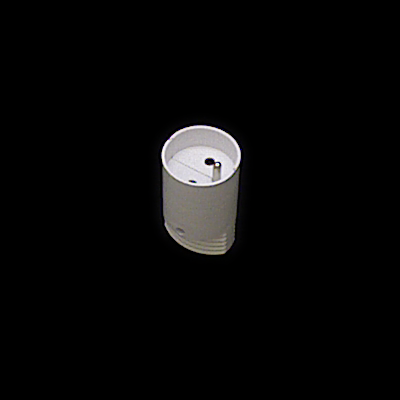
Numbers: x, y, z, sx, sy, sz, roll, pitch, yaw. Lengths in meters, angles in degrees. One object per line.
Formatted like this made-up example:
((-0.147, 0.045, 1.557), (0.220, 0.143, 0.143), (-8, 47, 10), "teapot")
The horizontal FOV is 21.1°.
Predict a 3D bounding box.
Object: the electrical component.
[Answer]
((0.000, 0.000, 0.620), (0.043, 0.043, 0.081), (0, -37, -1), "electrical component")
